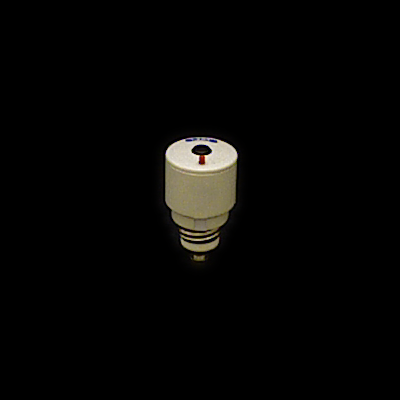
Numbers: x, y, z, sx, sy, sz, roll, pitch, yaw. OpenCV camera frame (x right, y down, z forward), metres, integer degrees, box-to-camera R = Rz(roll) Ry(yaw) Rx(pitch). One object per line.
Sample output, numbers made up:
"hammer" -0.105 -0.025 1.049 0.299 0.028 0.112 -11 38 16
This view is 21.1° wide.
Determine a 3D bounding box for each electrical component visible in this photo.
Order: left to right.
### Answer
"electrical component" 0.000 0.000 0.627 0.040 0.079 0.039 1 32 0
